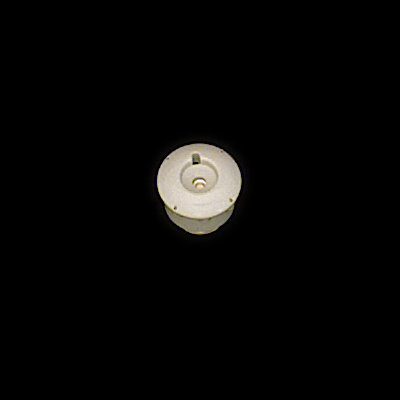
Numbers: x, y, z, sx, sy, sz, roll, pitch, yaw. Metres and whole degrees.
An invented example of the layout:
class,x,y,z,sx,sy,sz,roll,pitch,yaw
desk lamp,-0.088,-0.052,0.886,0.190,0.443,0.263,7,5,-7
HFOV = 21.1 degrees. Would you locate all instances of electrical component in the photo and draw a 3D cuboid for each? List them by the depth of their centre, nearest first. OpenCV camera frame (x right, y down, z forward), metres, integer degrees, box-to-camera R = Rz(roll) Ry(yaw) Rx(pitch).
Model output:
class,x,y,z,sx,sy,sz,roll,pitch,yaw
electrical component,0.000,0.000,0.633,0.048,0.048,0.062,0,-27,0
